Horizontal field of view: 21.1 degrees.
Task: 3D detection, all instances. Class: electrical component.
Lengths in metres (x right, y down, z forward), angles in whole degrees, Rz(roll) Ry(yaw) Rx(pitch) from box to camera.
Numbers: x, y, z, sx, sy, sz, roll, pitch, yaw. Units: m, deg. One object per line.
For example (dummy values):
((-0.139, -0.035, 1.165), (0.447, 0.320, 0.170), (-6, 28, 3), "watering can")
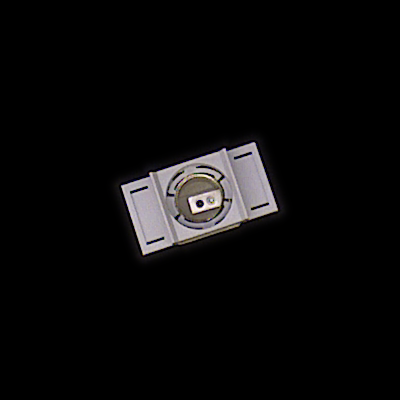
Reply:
((0.000, 0.000, 0.625), (0.081, 0.042, 0.063), (-18, -7, -2), "electrical component")
